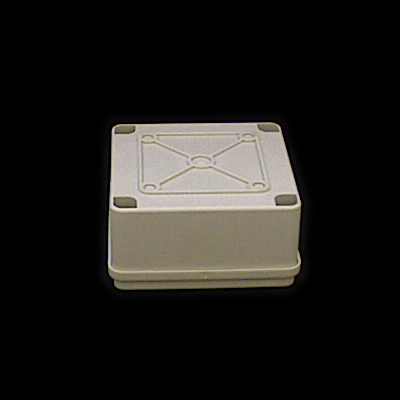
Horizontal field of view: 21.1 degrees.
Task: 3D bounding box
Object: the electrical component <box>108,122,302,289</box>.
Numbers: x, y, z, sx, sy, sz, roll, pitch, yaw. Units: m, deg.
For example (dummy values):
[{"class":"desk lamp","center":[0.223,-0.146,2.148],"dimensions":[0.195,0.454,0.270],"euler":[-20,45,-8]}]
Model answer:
[{"class":"electrical component","center":[0.000,0.000,0.637],"dimensions":[0.109,0.057,0.107],"euler":[-1,31,-4]}]
